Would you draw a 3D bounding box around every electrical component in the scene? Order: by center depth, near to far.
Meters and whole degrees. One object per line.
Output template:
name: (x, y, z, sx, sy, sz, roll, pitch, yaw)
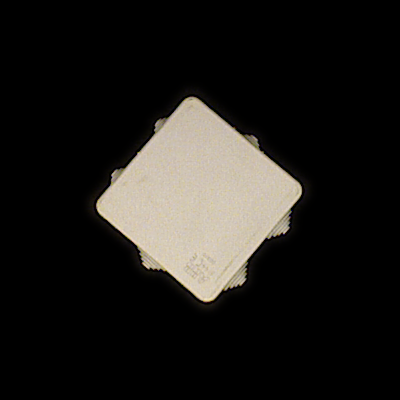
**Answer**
electrical component: (0.000, 0.000, 0.642, 0.100, 0.100, 0.048, 40, -5, 4)
